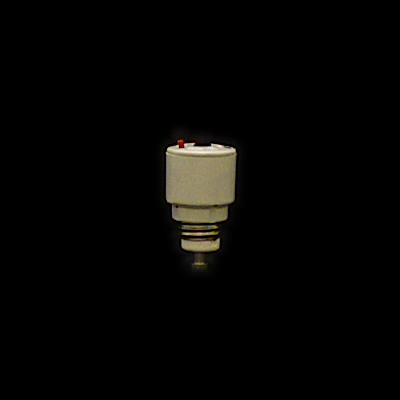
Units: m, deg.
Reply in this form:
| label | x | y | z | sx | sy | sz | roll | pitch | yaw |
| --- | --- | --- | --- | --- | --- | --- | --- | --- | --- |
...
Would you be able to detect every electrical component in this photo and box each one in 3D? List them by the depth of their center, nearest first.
| label | x | y | z | sx | sy | sz | roll | pitch | yaw |
| --- | --- | --- | --- | --- | --- | --- | --- | --- | --- |
| electrical component | 0.000 | 0.000 | 0.641 | 0.040 | 0.079 | 0.040 | 1 | 12 | 0 |
